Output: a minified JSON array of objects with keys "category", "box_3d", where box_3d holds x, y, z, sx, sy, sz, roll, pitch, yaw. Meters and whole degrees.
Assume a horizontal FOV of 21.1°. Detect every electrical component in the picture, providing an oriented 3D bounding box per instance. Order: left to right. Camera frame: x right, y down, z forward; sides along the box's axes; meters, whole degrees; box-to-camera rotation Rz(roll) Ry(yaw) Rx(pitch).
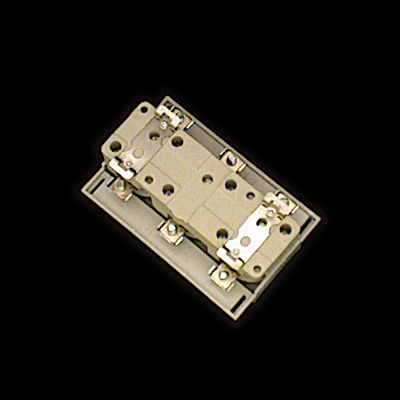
[{"category":"electrical component","box_3d":[0.000,0.000,0.633,0.121,0.079,0.062,39,-11,11]}]
